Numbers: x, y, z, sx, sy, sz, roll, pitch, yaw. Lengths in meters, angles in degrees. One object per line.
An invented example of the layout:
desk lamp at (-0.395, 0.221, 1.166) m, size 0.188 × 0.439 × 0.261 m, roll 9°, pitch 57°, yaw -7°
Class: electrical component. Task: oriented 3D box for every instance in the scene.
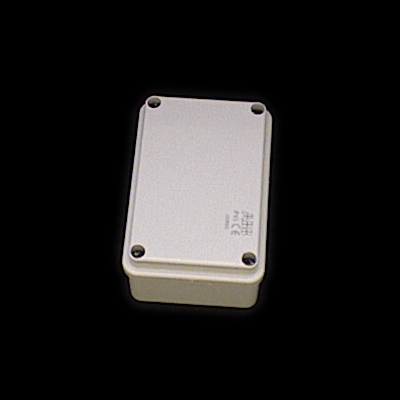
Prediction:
electrical component at (0.000, 0.000, 0.627) m, size 0.078 × 0.113 × 0.057 m, roll 4°, pitch -27°, yaw 1°
